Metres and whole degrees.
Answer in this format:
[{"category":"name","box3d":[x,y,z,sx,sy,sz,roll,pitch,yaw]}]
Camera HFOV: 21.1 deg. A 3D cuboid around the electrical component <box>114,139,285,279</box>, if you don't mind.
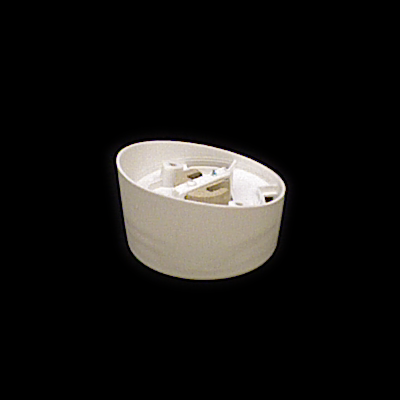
[{"category":"electrical component","box3d":[0.000,0.000,0.631,0.099,0.065,0.097,1,32,0]}]
